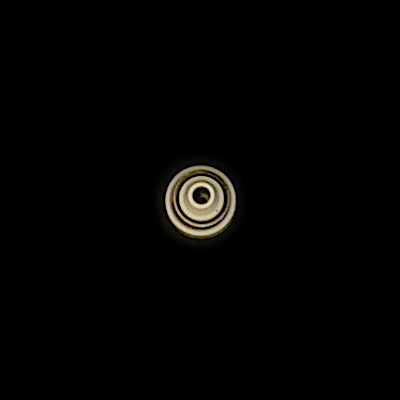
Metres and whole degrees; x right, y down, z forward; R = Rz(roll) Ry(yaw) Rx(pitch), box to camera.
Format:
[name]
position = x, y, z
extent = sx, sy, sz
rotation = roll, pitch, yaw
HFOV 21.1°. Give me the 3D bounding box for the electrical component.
[electrical component]
position = 0.000, 0.000, 0.635
extent = 0.043, 0.043, 0.062
rotation = 0, -6, 0
